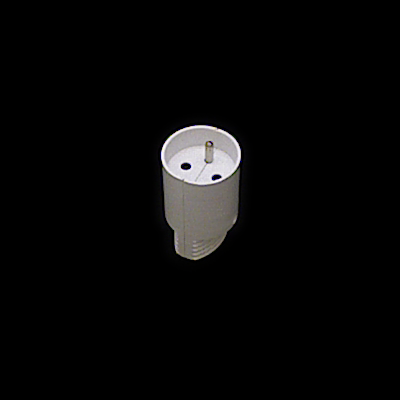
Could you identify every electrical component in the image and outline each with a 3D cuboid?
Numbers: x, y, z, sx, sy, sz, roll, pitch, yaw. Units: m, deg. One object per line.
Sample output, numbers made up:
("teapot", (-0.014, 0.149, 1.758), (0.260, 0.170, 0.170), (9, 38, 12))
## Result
("electrical component", (0.000, 0.000, 0.620), (0.043, 0.043, 0.081), (0, -38, -1))
